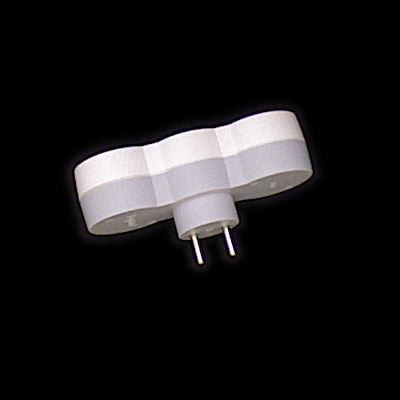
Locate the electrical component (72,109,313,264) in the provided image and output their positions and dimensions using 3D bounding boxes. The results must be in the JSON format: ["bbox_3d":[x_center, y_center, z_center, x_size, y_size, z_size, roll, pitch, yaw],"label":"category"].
[{"bbox_3d":[0.000,0.000,0.631,0.138,0.074,0.052,-14,-15,-5],"label":"electrical component"}]
